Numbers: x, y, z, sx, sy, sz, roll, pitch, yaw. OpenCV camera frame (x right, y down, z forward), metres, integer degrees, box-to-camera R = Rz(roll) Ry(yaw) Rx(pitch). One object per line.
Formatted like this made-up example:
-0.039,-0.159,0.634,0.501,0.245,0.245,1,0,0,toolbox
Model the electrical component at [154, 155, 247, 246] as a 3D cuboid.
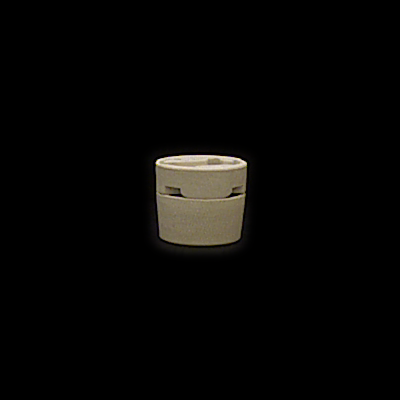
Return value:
0.000,0.000,0.644,0.055,0.047,0.055,1,10,0,electrical component
